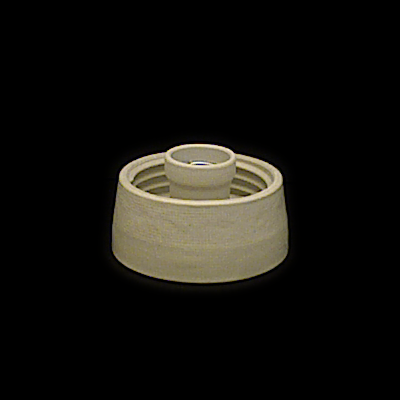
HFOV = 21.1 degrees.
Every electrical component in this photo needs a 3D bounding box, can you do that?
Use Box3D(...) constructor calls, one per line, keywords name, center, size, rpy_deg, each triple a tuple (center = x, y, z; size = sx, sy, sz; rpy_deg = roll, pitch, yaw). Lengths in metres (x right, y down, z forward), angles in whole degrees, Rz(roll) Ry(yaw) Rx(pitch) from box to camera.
Box3D(name="electrical component", center=(0.000, 0.000, 0.646), size=(0.108, 0.061, 0.106), rpy_deg=(1, 22, 0))
